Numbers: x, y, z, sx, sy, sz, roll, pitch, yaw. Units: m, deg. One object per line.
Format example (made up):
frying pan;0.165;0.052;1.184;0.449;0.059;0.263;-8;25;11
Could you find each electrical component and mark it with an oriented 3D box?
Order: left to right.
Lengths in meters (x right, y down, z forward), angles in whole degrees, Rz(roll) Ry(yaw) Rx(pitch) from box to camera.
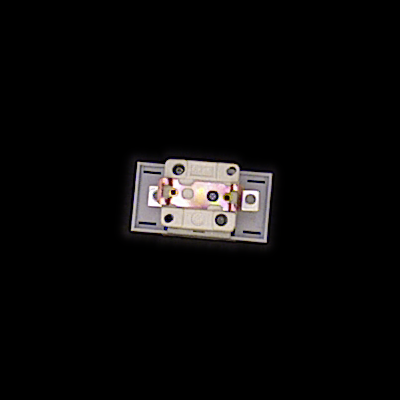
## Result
electrical component;0.000;0.000;0.626;0.081;0.042;0.063;4;-6;1
